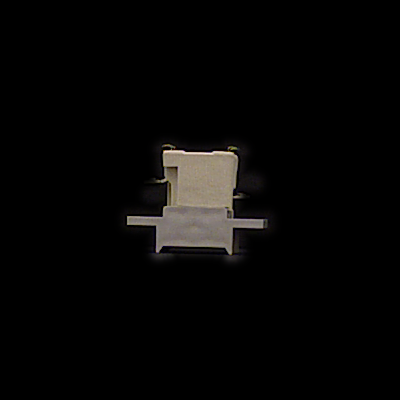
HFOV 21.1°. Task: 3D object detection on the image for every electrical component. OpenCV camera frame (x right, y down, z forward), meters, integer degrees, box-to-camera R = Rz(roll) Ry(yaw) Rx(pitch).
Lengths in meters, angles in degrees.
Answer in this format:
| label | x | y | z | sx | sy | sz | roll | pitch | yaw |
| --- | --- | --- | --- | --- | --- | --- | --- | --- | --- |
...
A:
| label | x | y | z | sx | sy | sz | roll | pitch | yaw |
| --- | --- | --- | --- | --- | --- | --- | --- | --- | --- |
| electrical component | 0.000 | 0.000 | 0.650 | 0.081 | 0.064 | 0.042 | 1 | 1 | 6 |
